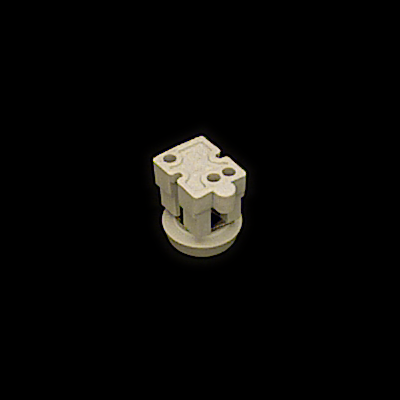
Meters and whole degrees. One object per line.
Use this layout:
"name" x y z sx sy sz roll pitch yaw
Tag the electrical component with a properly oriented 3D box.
"electrical component" 0.000 0.000 0.640 0.048 0.056 0.065 -27 48 -25
